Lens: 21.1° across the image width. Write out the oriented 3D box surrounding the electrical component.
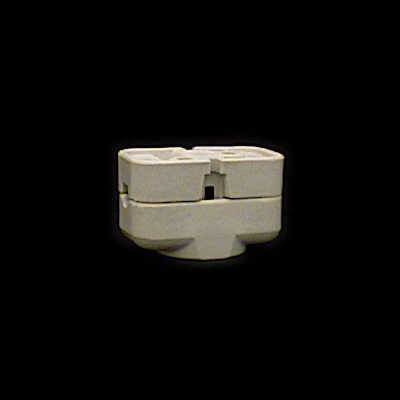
[{"bbox_3d":[0.000,0.000,0.653,0.096,0.060,0.053,-3,12,-20],"label":"electrical component"}]
